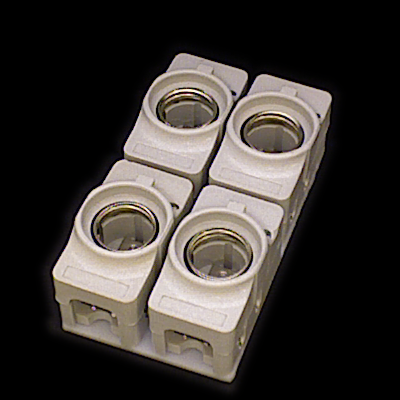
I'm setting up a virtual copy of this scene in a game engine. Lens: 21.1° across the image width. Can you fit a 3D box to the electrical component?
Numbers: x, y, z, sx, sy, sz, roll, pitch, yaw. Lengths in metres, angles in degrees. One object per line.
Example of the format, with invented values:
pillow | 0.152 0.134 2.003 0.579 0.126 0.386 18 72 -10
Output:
electrical component | 0.000 0.000 0.627 0.105 0.186 0.060 17 -36 12
